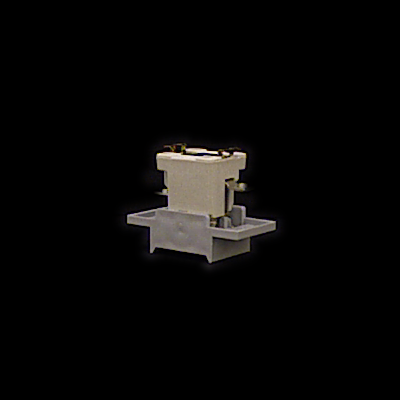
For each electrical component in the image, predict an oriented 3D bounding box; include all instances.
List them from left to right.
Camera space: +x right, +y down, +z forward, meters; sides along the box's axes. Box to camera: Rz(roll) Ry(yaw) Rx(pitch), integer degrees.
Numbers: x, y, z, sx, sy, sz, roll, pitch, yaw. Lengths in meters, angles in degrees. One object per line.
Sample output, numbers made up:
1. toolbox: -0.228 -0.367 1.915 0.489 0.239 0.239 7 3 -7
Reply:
1. electrical component: 0.000 0.000 0.644 0.080 0.064 0.042 9 14 33
